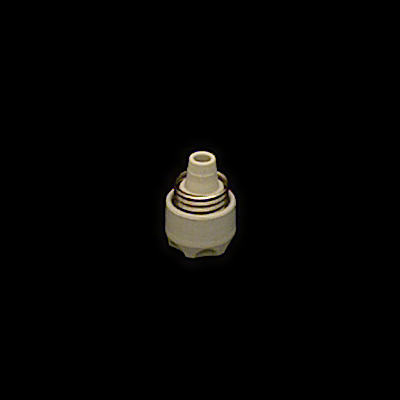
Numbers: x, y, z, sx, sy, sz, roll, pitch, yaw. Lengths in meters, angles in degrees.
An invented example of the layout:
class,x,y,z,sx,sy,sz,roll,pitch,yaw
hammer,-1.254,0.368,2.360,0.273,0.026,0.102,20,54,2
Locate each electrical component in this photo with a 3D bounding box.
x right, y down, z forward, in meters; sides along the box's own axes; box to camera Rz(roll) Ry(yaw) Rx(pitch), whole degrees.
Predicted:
class,x,y,z,sx,sy,sz,roll,pitch,yaw
electrical component,0.000,0.000,0.640,0.043,0.063,0.043,1,34,0
